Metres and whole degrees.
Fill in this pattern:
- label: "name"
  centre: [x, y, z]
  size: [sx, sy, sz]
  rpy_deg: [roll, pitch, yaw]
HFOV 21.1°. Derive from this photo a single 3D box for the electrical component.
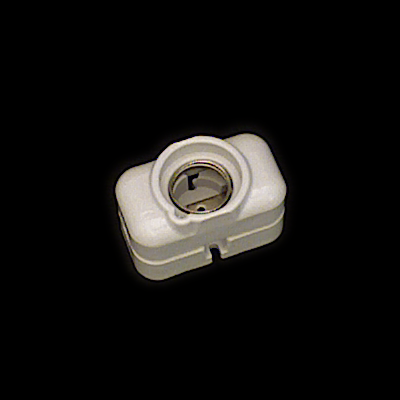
- label: "electrical component"
  centre: [0.000, 0.000, 0.633]
  size: [0.095, 0.053, 0.059]
  rpy_deg: [-19, -26, -9]
